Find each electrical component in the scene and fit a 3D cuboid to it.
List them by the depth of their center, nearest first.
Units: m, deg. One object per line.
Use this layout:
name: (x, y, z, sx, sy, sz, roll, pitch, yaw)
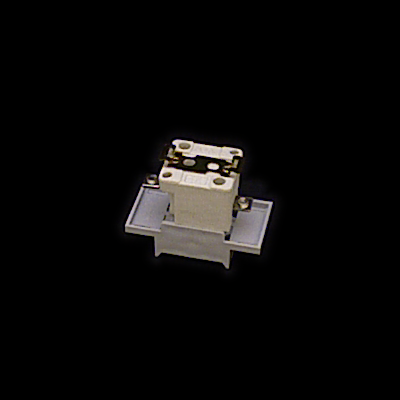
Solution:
electrical component: (0.000, 0.000, 0.630, 0.081, 0.064, 0.042, 8, 42, 9)
